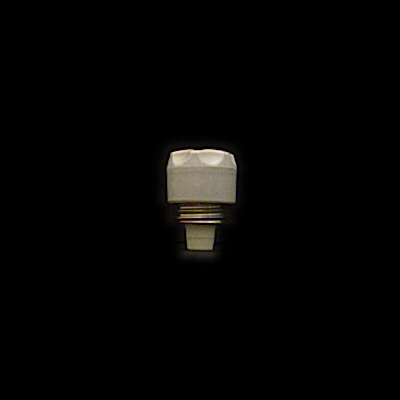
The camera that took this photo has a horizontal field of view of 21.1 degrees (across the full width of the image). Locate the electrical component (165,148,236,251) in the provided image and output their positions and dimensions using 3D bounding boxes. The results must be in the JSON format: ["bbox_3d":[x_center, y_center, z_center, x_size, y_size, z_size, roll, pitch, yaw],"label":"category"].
[{"bbox_3d":[0.000,0.000,0.658,0.043,0.062,0.043,1,1,1],"label":"electrical component"}]
